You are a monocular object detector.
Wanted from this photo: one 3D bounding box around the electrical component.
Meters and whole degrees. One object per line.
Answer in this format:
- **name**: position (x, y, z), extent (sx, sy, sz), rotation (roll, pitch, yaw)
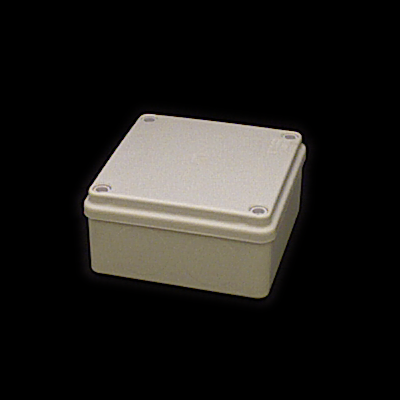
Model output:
- **electrical component**: position (0.000, 0.000, 0.635), extent (0.108, 0.057, 0.107), rotation (8, 32, 12)
